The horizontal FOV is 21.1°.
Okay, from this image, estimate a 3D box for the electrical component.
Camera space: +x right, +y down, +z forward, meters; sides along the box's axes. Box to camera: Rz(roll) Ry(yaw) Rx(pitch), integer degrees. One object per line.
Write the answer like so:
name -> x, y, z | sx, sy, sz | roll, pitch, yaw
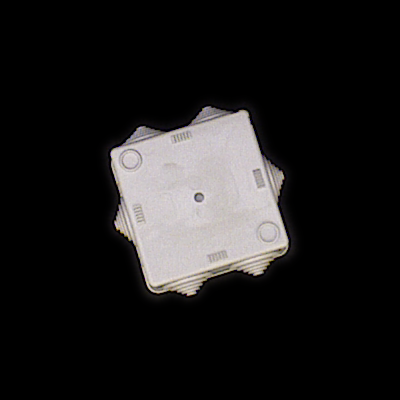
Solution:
electrical component -> 0.000, 0.000, 0.633 | 0.100, 0.100, 0.048 | -17, -6, -2
